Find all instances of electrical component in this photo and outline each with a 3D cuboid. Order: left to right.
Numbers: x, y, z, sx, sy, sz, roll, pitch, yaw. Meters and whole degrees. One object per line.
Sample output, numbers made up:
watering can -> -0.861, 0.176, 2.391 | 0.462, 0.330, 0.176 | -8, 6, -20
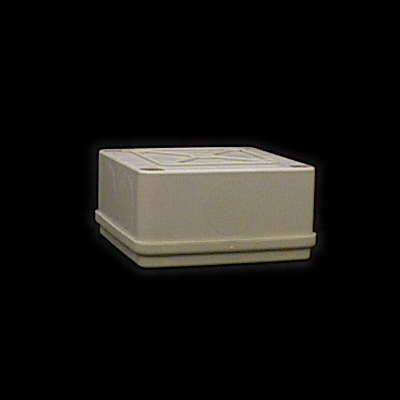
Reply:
electrical component -> 0.000, 0.000, 0.647 | 0.109, 0.056, 0.107 | -2, 10, -19
